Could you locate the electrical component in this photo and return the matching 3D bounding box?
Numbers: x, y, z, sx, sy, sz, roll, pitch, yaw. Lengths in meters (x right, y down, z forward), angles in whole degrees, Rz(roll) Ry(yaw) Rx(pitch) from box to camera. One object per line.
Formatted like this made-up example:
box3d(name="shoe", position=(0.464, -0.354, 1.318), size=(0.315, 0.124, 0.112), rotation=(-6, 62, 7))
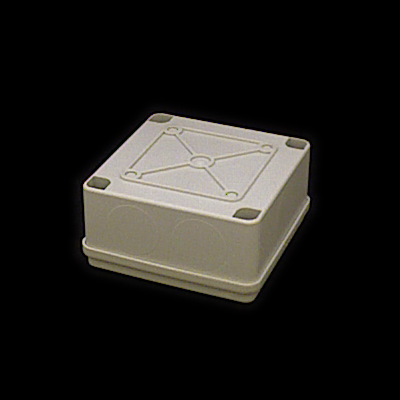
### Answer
box3d(name="electrical component", position=(0.000, 0.000, 0.636), size=(0.108, 0.057, 0.108), rotation=(12, 33, 18))
